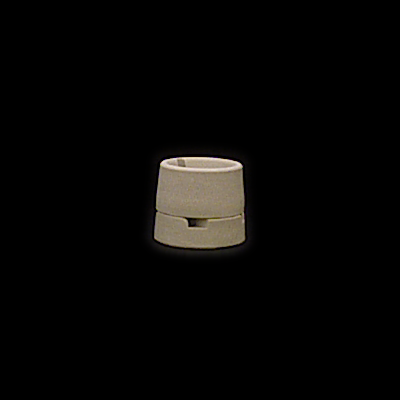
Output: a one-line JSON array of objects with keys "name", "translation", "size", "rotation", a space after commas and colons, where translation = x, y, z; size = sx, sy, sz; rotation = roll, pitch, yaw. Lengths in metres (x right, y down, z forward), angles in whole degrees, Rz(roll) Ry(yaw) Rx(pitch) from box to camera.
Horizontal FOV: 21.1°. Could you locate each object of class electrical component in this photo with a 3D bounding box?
[{"name": "electrical component", "translation": [0.000, 0.000, 0.644], "size": [0.055, 0.047, 0.055], "rotation": [1, 12, 0]}]
